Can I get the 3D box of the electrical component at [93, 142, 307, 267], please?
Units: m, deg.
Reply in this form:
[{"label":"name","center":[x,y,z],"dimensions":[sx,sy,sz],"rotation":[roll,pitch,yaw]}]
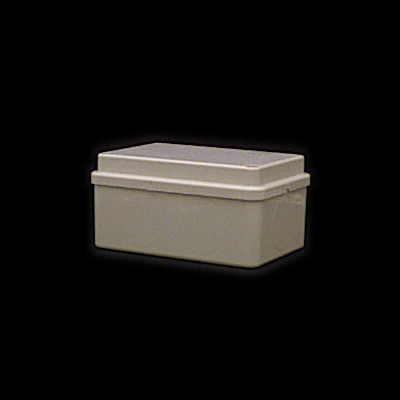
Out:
[{"label":"electrical component","center":[0.000,0.000,0.646],"dimensions":[0.113,0.057,0.078],"rotation":[6,12,27]}]
